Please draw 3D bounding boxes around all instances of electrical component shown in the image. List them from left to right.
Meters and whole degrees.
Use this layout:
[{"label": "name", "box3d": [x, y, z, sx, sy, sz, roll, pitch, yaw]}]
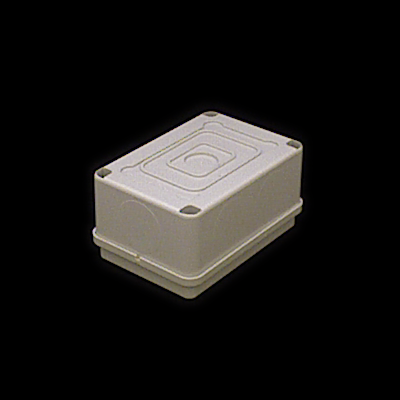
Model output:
[{"label": "electrical component", "box3d": [0.000, 0.000, 0.634, 0.077, 0.058, 0.112, 23, 38, 32]}]
